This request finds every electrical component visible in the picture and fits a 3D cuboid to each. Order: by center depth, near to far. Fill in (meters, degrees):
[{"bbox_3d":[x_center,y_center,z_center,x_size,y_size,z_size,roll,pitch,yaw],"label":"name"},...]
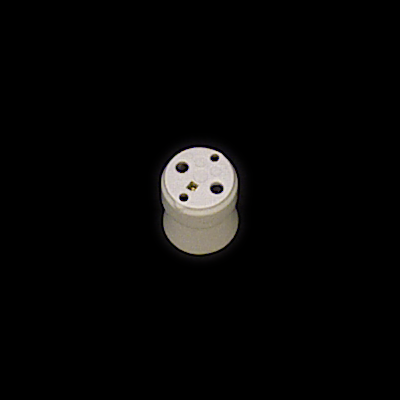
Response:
[{"bbox_3d":[0.000,0.000,0.629,0.045,0.045,0.055,0,-27,0],"label":"electrical component"}]
